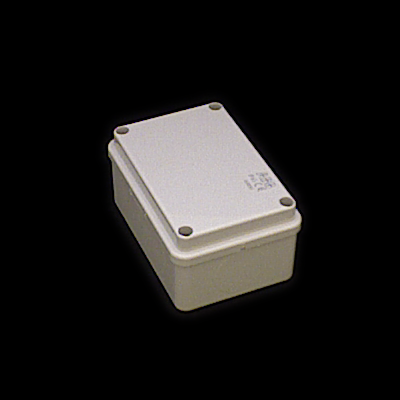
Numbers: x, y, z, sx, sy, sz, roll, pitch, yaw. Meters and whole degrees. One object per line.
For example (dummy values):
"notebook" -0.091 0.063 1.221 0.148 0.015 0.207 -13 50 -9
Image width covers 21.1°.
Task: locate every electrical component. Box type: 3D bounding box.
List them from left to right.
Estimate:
"electrical component" 0.000 0.000 0.632 0.078 0.057 0.112 -16 45 -18
